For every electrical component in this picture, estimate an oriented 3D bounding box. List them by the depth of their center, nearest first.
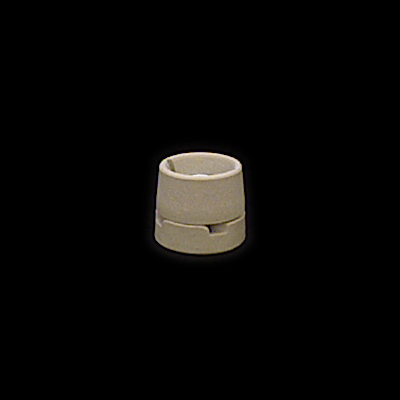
[{"bbox_3d":[0.000,0.000,0.642,0.055,0.047,0.055,0,20,0],"label":"electrical component"}]
